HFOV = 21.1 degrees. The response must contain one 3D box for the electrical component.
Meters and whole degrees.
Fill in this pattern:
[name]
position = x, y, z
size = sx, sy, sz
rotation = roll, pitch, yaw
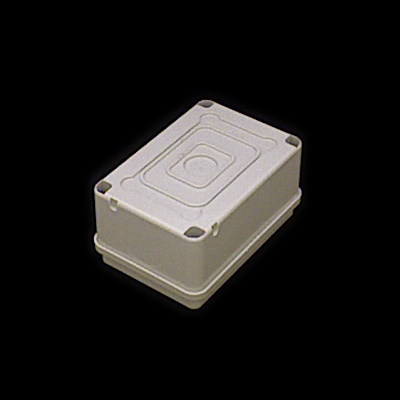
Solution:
[electrical component]
position = 0.000, 0.000, 0.632
size = 0.077, 0.057, 0.113
rotation = 26, 47, 26
